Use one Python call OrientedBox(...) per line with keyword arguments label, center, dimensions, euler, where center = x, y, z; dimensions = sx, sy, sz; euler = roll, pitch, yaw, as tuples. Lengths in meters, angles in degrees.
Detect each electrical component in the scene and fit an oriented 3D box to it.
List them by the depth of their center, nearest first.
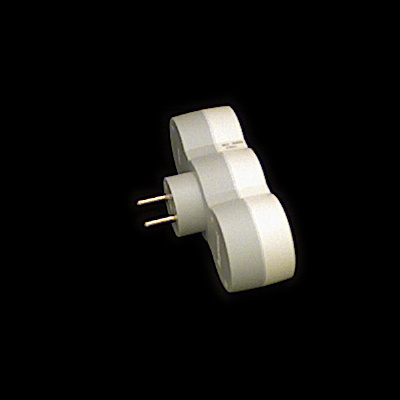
OrientedBox(label="electrical component", center=(0.000, 0.000, 0.641), dimensions=(0.074, 0.053, 0.136), euler=(-12, 44, -11))
